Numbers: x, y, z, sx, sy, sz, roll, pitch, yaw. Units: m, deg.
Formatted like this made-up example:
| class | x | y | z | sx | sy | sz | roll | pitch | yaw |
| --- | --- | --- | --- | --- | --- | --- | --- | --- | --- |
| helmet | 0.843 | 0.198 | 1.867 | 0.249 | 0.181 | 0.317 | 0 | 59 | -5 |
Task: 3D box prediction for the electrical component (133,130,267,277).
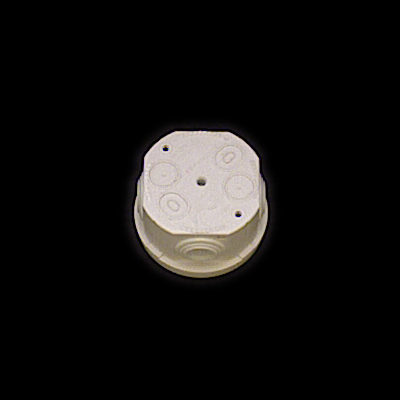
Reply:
| class | x | y | z | sx | sy | sz | roll | pitch | yaw |
| --- | --- | --- | --- | --- | --- | --- | --- | --- | --- |
| electrical component | 0.000 | 0.000 | 0.631 | 0.080 | 0.080 | 0.050 | 0 | -27 | -1 |
